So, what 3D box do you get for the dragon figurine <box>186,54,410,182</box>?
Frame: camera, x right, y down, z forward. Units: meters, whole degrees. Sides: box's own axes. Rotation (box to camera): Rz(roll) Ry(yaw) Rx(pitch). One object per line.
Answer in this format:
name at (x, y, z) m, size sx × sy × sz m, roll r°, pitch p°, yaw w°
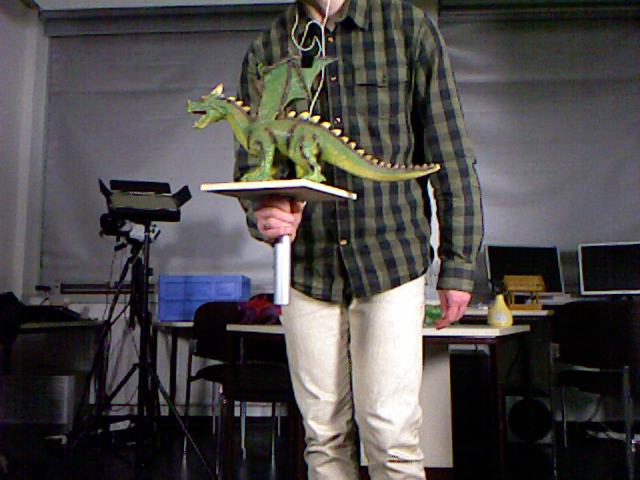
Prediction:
dragon figurine at (-0.045, -0.218, 0.931) m, size 0.411 × 0.243 × 0.122 m, roll 0°, pitch 1°, yaw 11°
